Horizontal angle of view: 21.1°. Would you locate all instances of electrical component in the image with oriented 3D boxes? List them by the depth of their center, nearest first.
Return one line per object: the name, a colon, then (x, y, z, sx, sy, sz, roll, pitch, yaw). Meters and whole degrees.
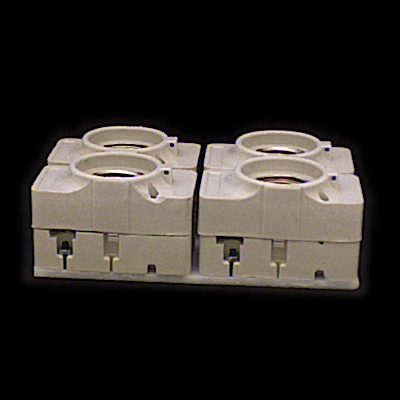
electrical component: (0.000, 0.000, 0.640, 0.186, 0.061, 0.104, 2, 20, 2)
